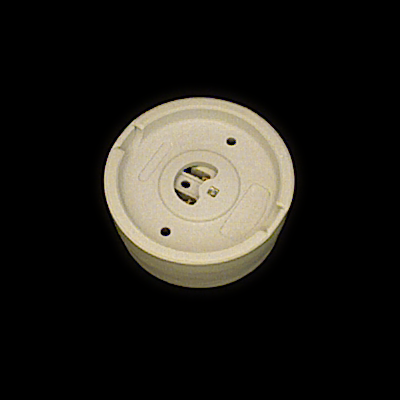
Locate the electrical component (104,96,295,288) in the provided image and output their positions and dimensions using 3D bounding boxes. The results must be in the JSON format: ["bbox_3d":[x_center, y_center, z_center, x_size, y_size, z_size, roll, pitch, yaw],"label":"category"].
[{"bbox_3d":[0.000,0.000,0.634,0.108,0.108,0.060,0,-27,0],"label":"electrical component"}]
